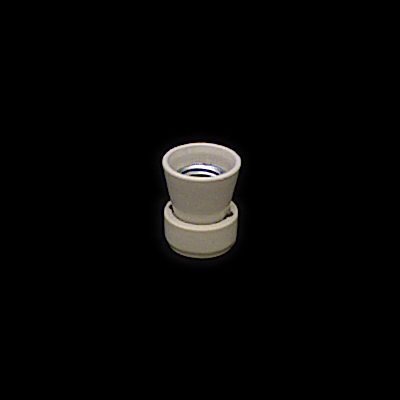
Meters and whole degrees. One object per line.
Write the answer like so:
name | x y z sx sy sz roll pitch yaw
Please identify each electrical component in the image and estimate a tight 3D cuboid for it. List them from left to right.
electrical component | 0.000 0.000 0.636 0.045 0.056 0.044 1 31 0
